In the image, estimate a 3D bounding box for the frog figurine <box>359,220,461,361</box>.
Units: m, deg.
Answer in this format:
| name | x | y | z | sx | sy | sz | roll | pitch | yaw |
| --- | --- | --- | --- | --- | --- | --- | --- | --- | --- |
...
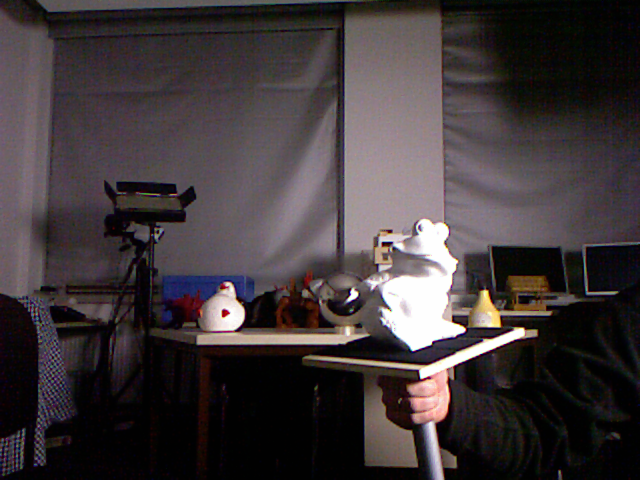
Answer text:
| name | x | y | z | sx | sy | sz | roll | pitch | yaw |
| --- | --- | --- | --- | --- | --- | --- | --- | --- | --- |
| frog figurine | 0.112 | 0.055 | 0.656 | 0.138 | 0.159 | 0.122 | -7 | 2 | -23 |
